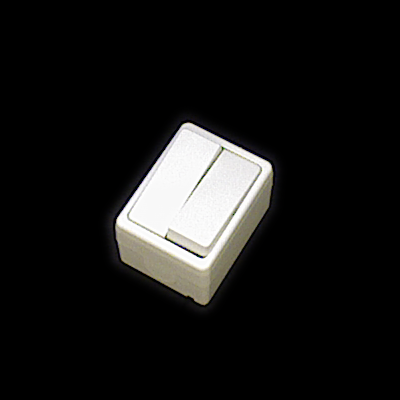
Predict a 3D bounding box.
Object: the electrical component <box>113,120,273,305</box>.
[{"bbox_3d":[0.000,0.000,0.627,0.061,0.096,0.061,28,-24,14],"label":"electrical component"}]
